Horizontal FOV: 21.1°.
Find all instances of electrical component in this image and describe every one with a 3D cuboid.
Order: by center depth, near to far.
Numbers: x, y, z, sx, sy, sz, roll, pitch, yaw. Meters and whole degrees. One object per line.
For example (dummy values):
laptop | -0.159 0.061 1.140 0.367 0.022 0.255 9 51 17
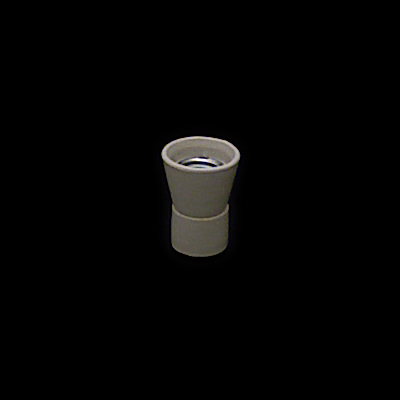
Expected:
electrical component | 0.000 0.000 0.635 0.044 0.066 0.044 1 30 0
